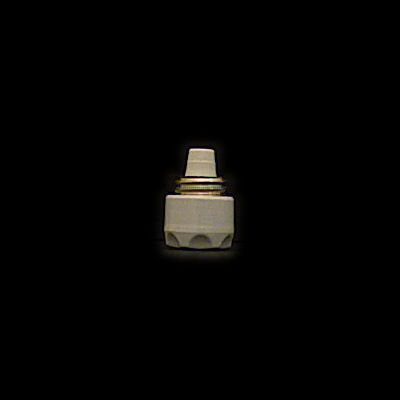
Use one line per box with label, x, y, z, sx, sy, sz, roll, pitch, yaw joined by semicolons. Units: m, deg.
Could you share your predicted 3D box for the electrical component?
electrical component;0.000;0.000;0.657;0.043;0.062;0.043;2;1;0
